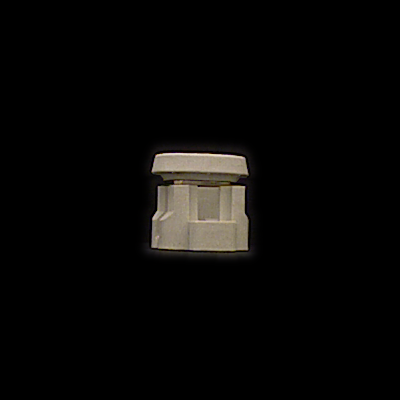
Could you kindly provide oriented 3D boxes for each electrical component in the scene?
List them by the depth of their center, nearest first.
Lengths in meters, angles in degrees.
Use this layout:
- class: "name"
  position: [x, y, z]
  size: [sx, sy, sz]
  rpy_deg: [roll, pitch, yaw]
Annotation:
- class: "electrical component"
  position: [0.000, 0.000, 0.650]
  size: [0.058, 0.057, 0.078]
  rpy_deg: [1, 0, -15]
